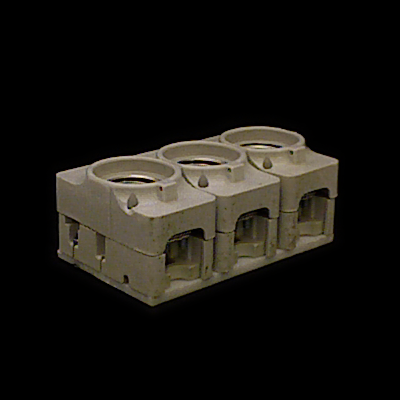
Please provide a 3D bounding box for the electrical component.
[{"bbox_3d":[0.000,0.000,0.644,0.149,0.063,0.088,-17,28,-40],"label":"electrical component"}]
